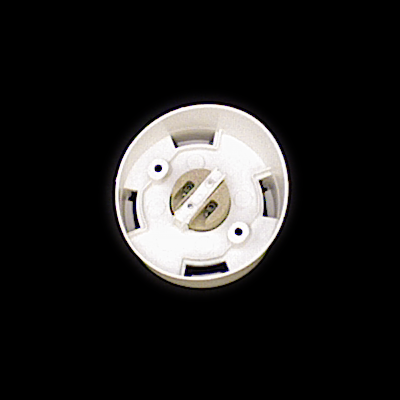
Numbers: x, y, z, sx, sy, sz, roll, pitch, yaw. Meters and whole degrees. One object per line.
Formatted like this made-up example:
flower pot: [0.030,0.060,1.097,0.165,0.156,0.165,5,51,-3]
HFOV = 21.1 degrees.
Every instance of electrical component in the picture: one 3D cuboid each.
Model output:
electrical component: [0.000,0.000,0.624,0.099,0.099,0.064,0,-18,0]
